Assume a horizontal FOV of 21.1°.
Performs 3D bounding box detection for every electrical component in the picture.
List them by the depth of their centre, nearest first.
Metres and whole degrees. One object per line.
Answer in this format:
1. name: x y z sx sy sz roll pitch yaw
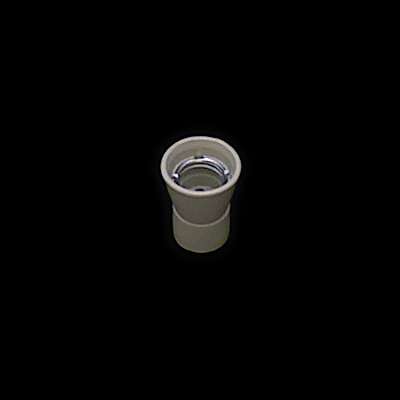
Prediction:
1. electrical component: 0.000 0.000 0.628 0.044 0.044 0.065 0 -39 0
